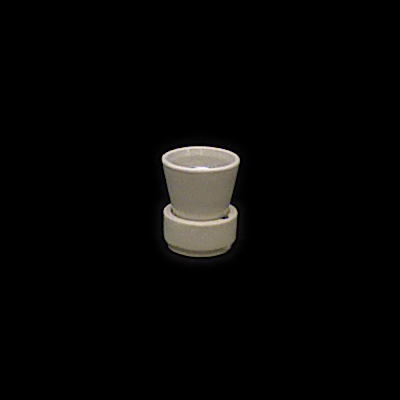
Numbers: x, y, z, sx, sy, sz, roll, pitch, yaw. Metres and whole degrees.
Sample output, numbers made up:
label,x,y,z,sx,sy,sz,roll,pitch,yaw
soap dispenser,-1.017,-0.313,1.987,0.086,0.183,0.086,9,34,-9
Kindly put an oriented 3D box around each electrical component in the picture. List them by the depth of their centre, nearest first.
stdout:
label,x,y,z,sx,sy,sz,roll,pitch,yaw
electrical component,0.000,0.000,0.638,0.045,0.056,0.044,0,22,0
